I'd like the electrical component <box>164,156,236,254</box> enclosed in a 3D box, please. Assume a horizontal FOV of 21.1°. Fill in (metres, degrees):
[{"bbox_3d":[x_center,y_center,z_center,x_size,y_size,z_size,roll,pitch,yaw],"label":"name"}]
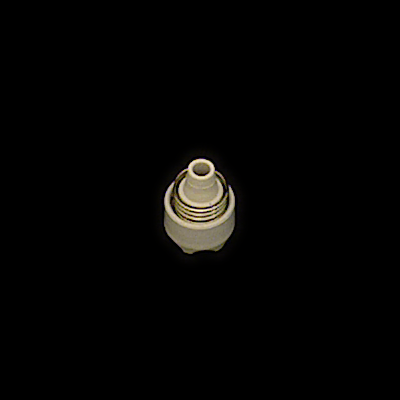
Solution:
[{"bbox_3d":[0.000,0.000,0.635,0.043,0.043,0.062,0,-37,-2],"label":"electrical component"}]
